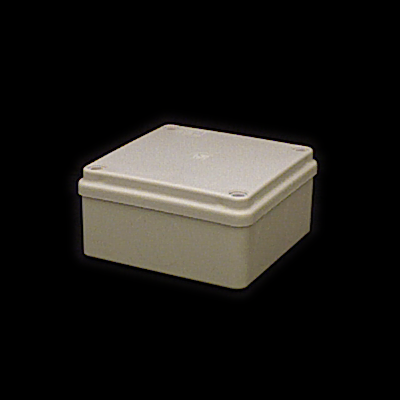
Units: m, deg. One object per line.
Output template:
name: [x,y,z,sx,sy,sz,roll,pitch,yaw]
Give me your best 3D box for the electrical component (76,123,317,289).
electrical component: [0.000,0.000,0.638,0.108,0.057,0.108,11,23,24]
